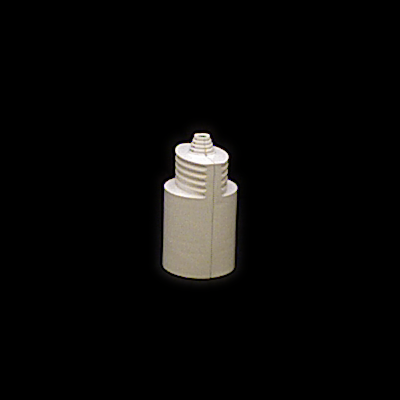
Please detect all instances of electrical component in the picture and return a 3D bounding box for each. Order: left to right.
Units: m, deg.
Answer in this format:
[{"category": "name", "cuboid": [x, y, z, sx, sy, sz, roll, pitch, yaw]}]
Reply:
[{"category": "electrical component", "cuboid": [0.000, 0.000, 0.634, 0.043, 0.082, 0.042, 1, 21, 0]}]
